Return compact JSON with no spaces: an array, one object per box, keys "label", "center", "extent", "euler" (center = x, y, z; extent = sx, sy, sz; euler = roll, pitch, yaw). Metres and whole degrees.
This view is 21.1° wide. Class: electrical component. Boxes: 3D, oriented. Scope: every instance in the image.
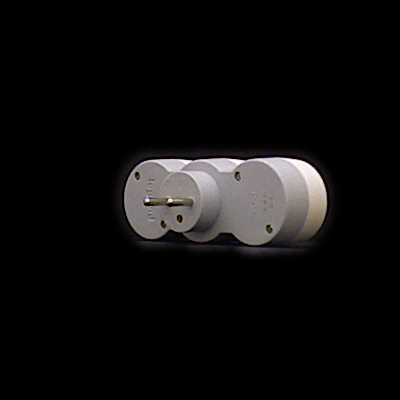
[{"label":"electrical component","center":[0.000,0.000,0.648],"extent":[0.138,0.052,0.073],"euler":[2,3,44]}]
